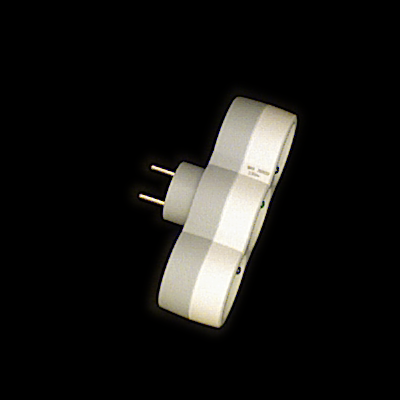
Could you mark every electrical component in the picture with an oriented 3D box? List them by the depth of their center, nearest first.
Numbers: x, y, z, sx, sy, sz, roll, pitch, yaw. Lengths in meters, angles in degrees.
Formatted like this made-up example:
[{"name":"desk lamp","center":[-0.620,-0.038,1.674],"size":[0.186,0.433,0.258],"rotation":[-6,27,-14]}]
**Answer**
[{"name":"electrical component","center":[0.000,0.000,0.638],"size":[0.073,0.139,0.052],"rotation":[19,-15,7]}]
